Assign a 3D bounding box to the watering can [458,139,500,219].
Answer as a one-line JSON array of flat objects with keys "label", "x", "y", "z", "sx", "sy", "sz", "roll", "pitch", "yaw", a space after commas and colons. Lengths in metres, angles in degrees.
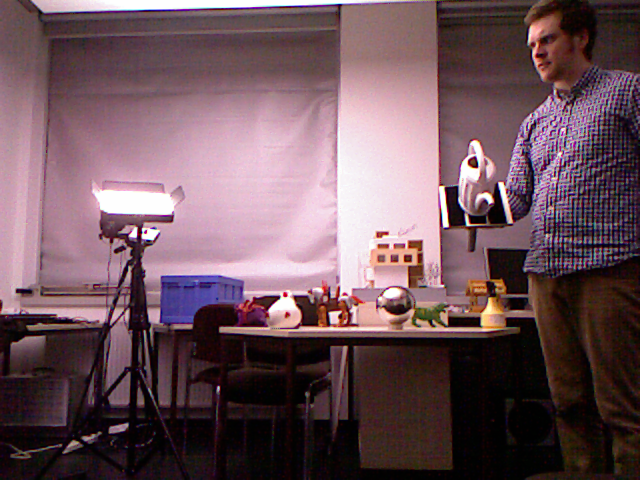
[{"label": "watering can", "x": 0.486, "y": -0.156, "z": 1.577, "sx": 0.104, "sy": 0.219, "sz": 0.356, "roll": -4, "pitch": 43, "yaw": 7}]
